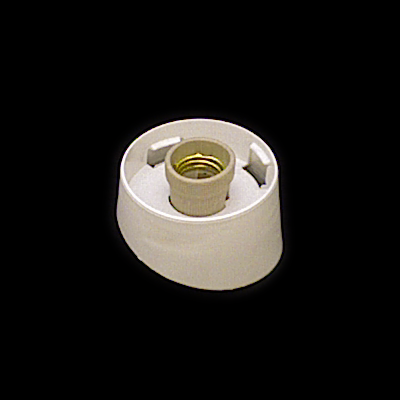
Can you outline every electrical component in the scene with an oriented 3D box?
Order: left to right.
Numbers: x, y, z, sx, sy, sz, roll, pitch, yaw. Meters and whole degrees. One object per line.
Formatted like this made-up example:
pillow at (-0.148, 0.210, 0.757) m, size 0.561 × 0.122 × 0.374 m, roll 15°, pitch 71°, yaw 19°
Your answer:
electrical component at (0.000, 0.000, 0.629) m, size 0.099 × 0.064 × 0.098 m, roll 1°, pitch 42°, yaw -1°
